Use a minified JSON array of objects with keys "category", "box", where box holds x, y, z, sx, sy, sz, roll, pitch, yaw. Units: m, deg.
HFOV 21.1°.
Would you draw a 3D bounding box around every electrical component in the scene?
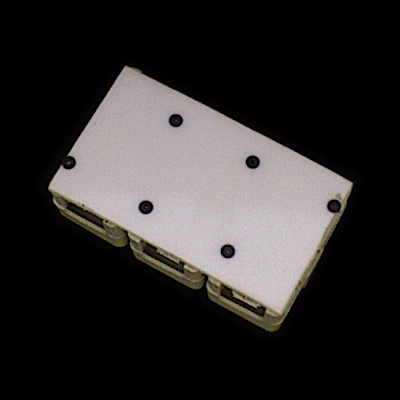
[{"category":"electrical component","box":[0.000,0.000,0.630,0.150,0.089,0.062,29,-15,9]}]
